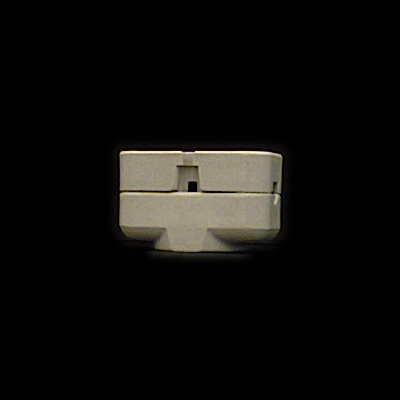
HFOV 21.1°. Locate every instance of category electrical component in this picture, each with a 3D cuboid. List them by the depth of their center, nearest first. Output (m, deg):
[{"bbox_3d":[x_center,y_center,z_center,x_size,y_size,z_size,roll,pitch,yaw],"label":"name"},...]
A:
[{"bbox_3d":[0.000,0.000,0.659,0.095,0.059,0.054,1,1,17],"label":"electrical component"}]
